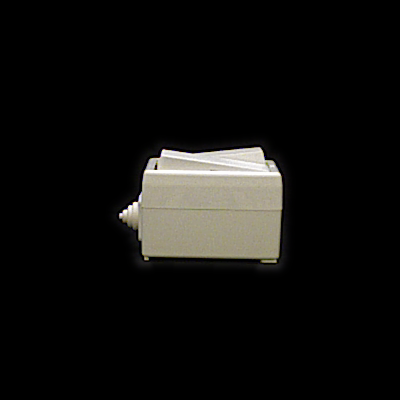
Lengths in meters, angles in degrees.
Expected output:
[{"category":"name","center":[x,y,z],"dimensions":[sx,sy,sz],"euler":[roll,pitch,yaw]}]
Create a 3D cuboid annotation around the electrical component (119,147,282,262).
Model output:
[{"category":"electrical component","center":[0.000,0.000,0.644],"dimensions":[0.096,0.061,0.061],"euler":[1,10,0]}]
